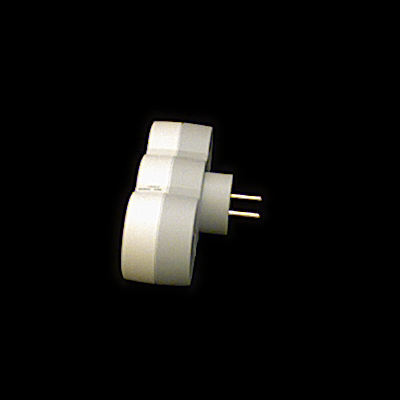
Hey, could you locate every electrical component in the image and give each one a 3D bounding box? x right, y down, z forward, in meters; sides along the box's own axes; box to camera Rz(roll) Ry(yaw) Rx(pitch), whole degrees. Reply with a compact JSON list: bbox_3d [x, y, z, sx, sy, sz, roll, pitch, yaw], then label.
[{"bbox_3d":[0.000,0.000,0.642,0.073,0.053,0.137,5,32,4],"label":"electrical component"}]
